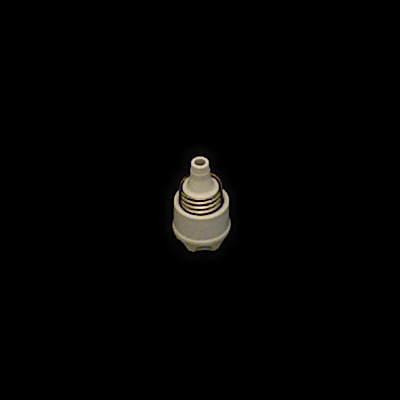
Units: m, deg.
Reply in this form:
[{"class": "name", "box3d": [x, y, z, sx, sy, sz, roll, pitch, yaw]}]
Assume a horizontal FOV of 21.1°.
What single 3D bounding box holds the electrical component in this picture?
[{"class": "electrical component", "box3d": [0.000, 0.000, 0.641, 0.035, 0.062, 0.035, -1, 42, 1]}]
